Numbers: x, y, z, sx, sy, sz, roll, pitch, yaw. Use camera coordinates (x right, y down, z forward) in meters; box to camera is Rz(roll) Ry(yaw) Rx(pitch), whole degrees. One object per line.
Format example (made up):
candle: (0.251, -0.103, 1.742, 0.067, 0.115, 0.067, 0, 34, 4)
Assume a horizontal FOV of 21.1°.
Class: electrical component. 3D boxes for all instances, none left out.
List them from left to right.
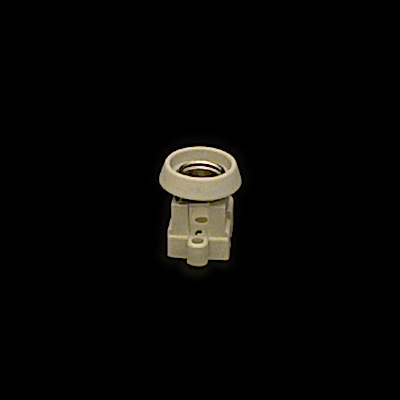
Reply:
electrical component: (0.000, 0.000, 0.644, 0.048, 0.056, 0.065, 4, 32, 2)
